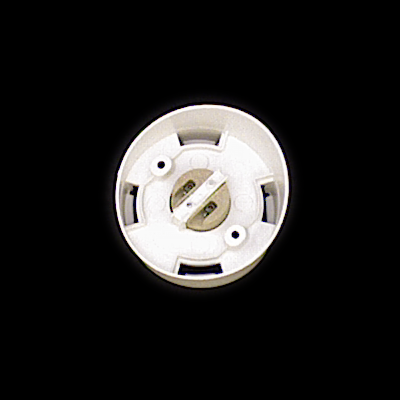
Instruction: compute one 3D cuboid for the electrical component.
[{"bbox_3d":[0.000,0.000,0.624,0.099,0.099,0.064,0,-18,0],"label":"electrical component"}]
